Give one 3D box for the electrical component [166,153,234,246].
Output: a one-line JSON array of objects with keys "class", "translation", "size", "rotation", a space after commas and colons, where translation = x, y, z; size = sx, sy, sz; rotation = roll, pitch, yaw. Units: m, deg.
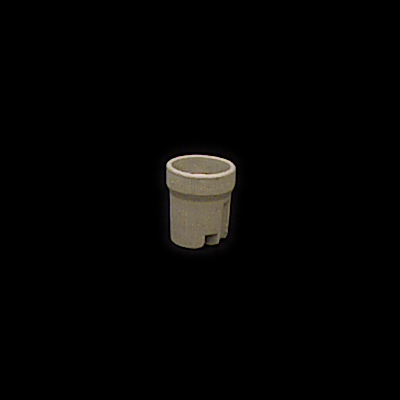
[{"class": "electrical component", "translation": [0.000, 0.000, 0.639], "size": [0.040, 0.047, 0.039], "rotation": [1, 22, 0]}]
